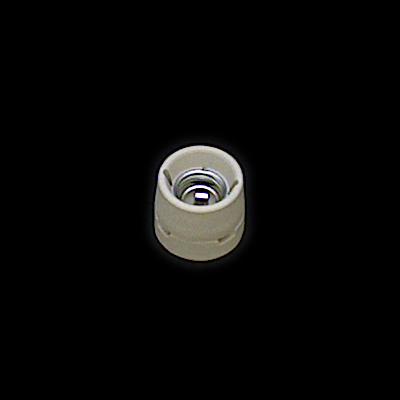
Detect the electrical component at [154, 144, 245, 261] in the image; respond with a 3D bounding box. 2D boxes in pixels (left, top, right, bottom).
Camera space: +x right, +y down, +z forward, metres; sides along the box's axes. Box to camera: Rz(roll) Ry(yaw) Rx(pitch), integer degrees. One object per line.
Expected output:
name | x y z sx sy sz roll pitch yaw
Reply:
electrical component | 0.000 0.000 0.634 0.055 0.055 0.047 0 -37 -2
